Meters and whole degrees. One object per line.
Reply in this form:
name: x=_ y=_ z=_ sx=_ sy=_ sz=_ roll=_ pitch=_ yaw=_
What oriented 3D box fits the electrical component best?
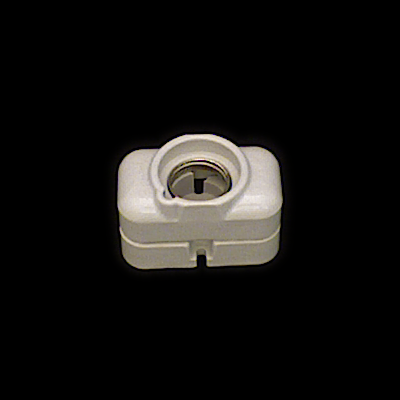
electrical component: x=0.000 y=0.000 z=0.634 sx=0.095 sy=0.053 sz=0.059 roll=-2 pitch=-37 yaw=-2
